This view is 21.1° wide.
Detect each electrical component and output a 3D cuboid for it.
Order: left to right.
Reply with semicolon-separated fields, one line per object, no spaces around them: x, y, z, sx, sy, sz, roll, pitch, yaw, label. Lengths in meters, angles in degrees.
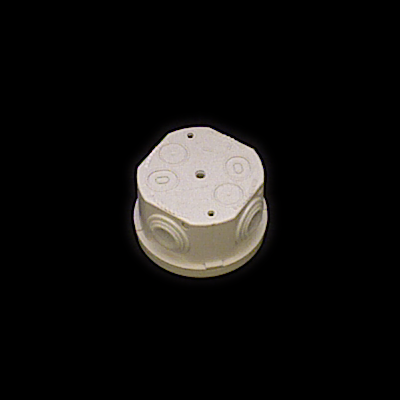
0.000;0.000;0.633;0.080;0.080;0.051;0;-38;0;electrical component
